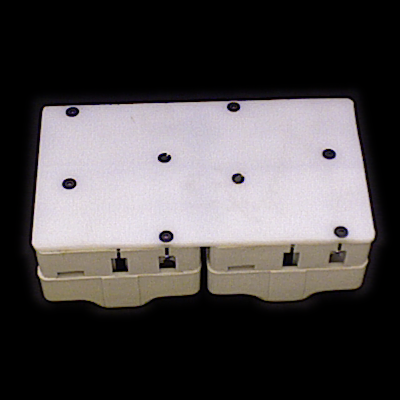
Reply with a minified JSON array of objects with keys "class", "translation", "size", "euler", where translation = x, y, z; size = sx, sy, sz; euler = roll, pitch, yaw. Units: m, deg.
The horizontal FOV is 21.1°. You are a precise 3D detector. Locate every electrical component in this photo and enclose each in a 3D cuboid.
[{"class":"electrical component","translation":[0.000,0.000,0.627],"size":[0.186,0.105,0.060],"euler":[-2,-38,-2]}]
